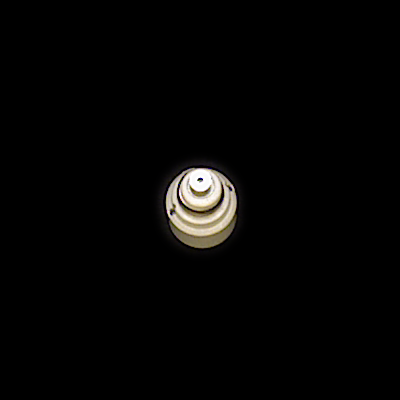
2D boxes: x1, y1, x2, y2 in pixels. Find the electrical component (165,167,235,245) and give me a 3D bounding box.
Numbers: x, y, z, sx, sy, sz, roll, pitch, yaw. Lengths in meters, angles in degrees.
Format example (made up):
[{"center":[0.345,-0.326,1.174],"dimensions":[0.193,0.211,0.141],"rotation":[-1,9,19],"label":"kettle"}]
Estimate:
[{"center":[0.000,0.000,0.618],"dimensions":[0.040,0.040,0.078],"rotation":[0,-16,1],"label":"electrical component"}]
